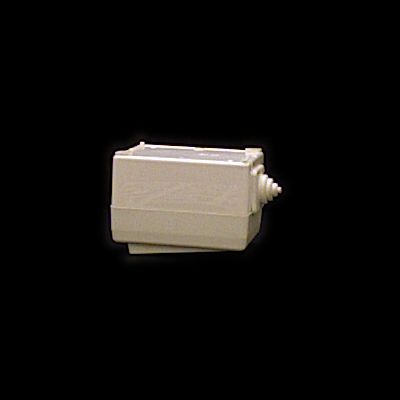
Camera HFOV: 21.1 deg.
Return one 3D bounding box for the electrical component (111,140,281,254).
[{"bbox_3d":[0.000,0.000,0.642,0.096,0.061,0.061,4,11,11],"label":"electrical component"}]
